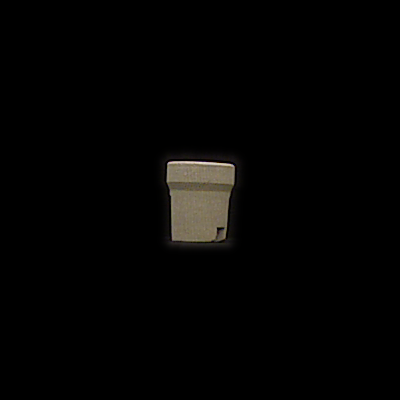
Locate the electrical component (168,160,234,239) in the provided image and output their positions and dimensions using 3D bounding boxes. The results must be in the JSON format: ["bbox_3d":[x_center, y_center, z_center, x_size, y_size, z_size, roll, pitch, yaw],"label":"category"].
[{"bbox_3d":[0.000,0.000,0.649,0.040,0.046,0.040,1,1,0],"label":"electrical component"}]
